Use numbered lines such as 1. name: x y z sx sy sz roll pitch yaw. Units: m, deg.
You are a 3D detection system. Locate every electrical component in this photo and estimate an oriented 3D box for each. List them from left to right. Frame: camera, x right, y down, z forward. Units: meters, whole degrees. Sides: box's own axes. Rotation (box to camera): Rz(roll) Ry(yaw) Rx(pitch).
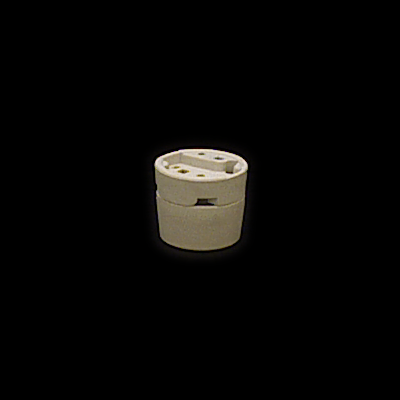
1. electrical component: 0.000 0.000 0.642 0.055 0.047 0.055 1 21 0
